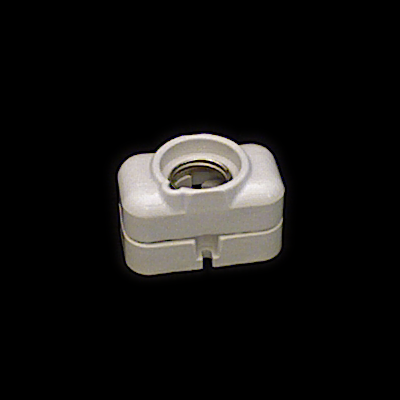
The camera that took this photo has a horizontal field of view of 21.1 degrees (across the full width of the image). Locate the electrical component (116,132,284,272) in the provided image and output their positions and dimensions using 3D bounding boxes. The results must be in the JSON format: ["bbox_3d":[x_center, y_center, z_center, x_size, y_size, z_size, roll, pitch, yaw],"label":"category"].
[{"bbox_3d":[0.000,0.000,0.637,0.095,0.060,0.053,-7,43,-8],"label":"electrical component"}]
